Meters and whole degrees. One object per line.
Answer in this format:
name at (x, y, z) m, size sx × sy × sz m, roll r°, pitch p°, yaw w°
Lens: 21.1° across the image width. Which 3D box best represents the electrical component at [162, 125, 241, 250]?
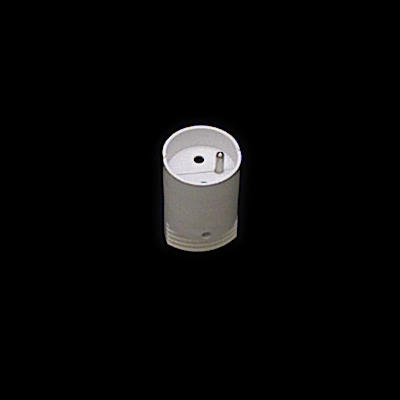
electrical component at (0.000, 0.000, 0.621) m, size 0.043 × 0.043 × 0.081 m, roll 0°, pitch -38°, yaw -1°
